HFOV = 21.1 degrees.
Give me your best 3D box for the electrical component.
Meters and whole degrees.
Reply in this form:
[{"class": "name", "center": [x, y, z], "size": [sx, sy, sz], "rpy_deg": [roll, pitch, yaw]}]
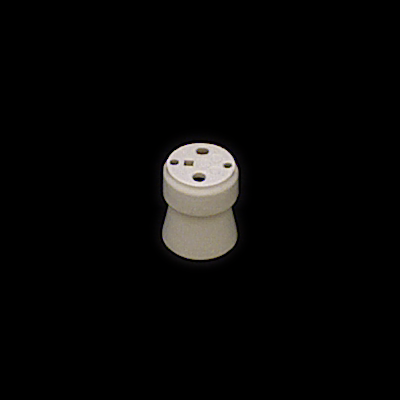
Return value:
[{"class": "electrical component", "center": [0.000, 0.000, 0.633], "size": [0.045, 0.055, 0.044], "rpy_deg": [1, 42, -1]}]
